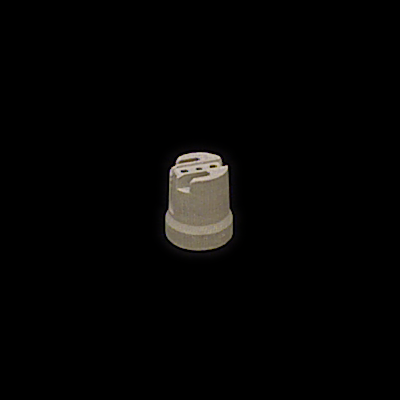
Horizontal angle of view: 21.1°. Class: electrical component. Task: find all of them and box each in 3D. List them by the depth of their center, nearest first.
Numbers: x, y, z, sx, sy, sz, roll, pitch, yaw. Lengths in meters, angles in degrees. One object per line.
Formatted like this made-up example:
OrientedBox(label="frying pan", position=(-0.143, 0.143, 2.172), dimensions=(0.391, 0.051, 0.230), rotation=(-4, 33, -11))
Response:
OrientedBox(label="electrical component", position=(0.000, 0.000, 0.638), dimensions=(0.040, 0.046, 0.040), rotation=(1, 31, 0))
